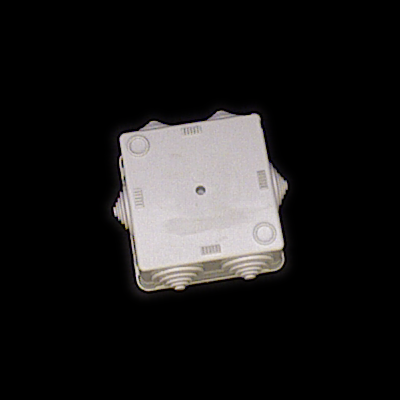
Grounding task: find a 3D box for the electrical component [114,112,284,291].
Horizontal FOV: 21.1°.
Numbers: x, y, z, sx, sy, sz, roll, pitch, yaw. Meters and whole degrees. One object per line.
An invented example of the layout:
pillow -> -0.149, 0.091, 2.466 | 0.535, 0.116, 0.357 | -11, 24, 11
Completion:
electrical component -> 0.000, 0.000, 0.631 | 0.100, 0.100, 0.048 | -9, -16, -3
